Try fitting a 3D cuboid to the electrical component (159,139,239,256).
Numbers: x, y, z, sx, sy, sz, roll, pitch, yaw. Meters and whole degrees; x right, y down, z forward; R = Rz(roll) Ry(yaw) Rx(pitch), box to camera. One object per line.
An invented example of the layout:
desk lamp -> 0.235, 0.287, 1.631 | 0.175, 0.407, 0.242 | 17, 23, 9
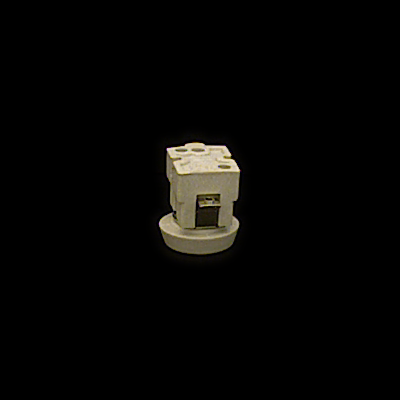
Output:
electrical component -> 0.000, 0.000, 0.647 | 0.048, 0.056, 0.065 | -2, 23, -11
